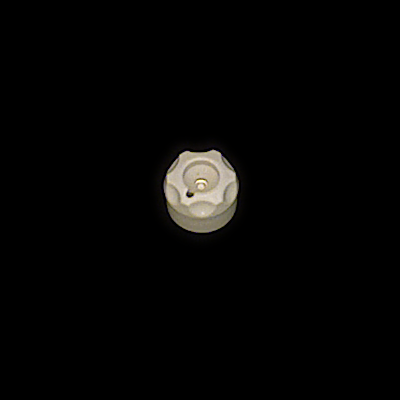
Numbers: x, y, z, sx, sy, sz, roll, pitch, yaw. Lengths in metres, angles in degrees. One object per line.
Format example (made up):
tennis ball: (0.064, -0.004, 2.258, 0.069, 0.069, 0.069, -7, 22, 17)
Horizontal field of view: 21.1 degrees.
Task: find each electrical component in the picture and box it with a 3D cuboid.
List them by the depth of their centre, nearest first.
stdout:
electrical component: (0.000, 0.000, 0.634, 0.043, 0.043, 0.062, 0, -27, 0)
